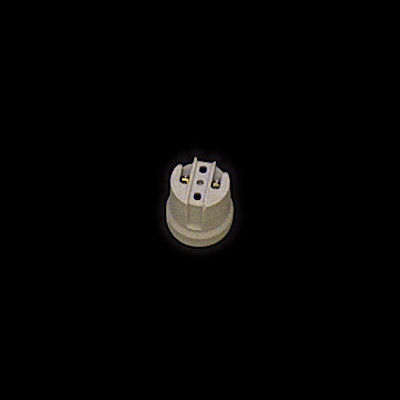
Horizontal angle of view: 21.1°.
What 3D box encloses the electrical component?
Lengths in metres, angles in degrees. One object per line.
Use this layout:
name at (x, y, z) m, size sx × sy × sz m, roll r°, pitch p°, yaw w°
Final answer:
electrical component at (0.000, 0.000, 0.634) m, size 0.040 × 0.040 × 0.046 m, roll 0°, pitch -27°, yaw -1°
